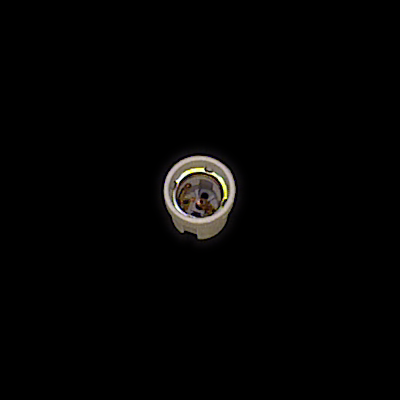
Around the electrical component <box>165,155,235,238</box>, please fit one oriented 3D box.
[{"bbox_3d":[0.000,0.000,0.628,0.040,0.040,0.046,0,-17,-1],"label":"electrical component"}]
